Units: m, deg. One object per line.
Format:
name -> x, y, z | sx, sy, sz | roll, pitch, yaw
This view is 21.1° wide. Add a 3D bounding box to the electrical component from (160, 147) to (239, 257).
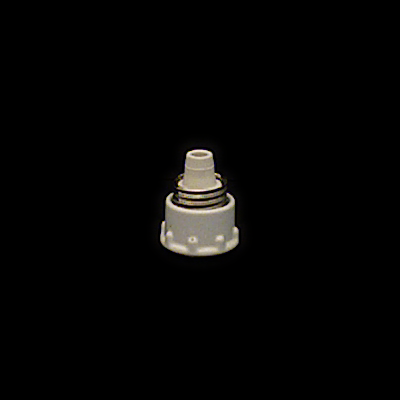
electrical component -> 0.000, 0.000, 0.643 | 0.048, 0.063, 0.047 | 0, 23, 1
